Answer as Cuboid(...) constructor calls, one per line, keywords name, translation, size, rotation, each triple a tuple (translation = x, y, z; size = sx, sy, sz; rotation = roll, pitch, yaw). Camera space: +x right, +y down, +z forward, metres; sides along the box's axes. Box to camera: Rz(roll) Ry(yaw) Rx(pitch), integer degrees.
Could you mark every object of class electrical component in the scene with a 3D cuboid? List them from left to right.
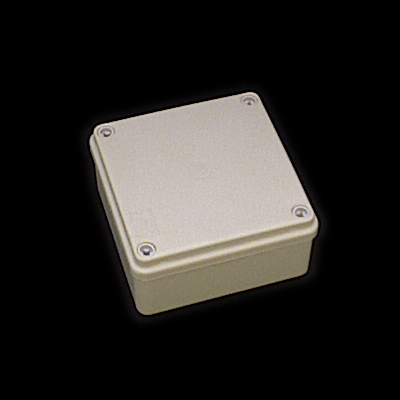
Cuboid(name="electrical component", translation=(0.000, 0.000, 0.631), size=(0.109, 0.108, 0.056), rotation=(-13, -37, -12))
